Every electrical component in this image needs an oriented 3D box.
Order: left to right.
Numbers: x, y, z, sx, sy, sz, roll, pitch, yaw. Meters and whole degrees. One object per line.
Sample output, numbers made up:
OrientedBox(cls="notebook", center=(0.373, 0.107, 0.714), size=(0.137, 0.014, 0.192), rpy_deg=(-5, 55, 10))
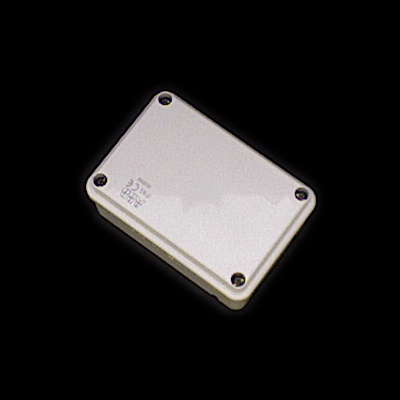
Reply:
OrientedBox(cls="electrical component", center=(0.000, 0.000, 0.626), size=(0.113, 0.078, 0.057), rpy_deg=(35, -14, 10))
